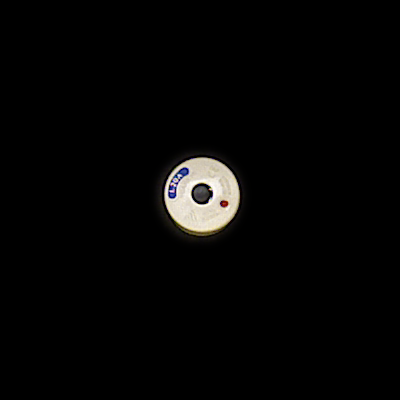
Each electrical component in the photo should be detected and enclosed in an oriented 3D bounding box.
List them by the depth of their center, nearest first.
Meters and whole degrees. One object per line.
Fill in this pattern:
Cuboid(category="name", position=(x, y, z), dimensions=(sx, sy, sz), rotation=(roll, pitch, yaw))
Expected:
Cuboid(category="electrical component", position=(0.000, 0.000, 0.617), dimensions=(0.040, 0.040, 0.078), rotation=(0, -6, 0))
